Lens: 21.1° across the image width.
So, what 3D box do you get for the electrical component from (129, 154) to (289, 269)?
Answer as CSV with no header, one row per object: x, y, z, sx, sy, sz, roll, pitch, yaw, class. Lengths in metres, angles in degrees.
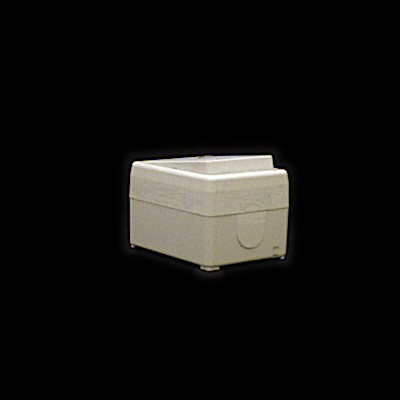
0.000,0.000,0.646,0.062,0.061,0.095,-7,13,-38,electrical component
